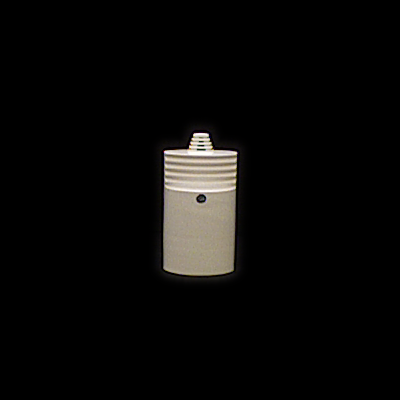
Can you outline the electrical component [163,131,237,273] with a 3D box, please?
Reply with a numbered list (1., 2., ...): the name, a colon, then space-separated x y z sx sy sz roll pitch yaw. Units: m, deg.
1. electrical component: 0.000 0.000 0.642 0.043 0.081 0.043 1 11 0
